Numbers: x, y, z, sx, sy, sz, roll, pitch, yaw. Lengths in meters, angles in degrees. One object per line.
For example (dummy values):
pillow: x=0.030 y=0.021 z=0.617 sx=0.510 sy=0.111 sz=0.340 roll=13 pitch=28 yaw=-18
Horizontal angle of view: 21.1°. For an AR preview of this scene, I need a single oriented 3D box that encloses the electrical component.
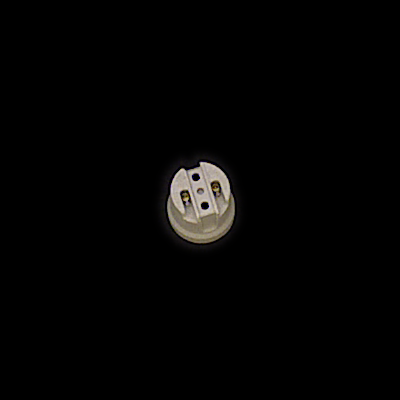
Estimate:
electrical component: x=0.000 y=0.000 z=0.633 sx=0.040 sy=0.040 sz=0.046 roll=0 pitch=-17 yaw=1
